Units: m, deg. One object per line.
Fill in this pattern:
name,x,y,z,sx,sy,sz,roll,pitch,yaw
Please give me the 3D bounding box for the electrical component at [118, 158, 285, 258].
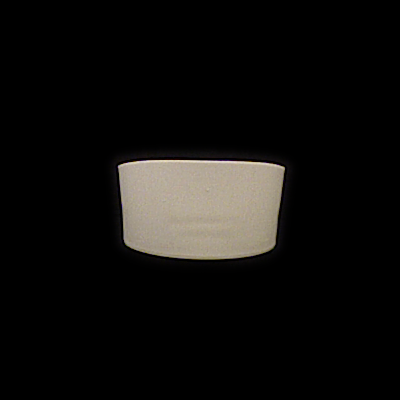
electrical component,0.000,0.000,0.643,0.099,0.064,0.098,2,11,0
